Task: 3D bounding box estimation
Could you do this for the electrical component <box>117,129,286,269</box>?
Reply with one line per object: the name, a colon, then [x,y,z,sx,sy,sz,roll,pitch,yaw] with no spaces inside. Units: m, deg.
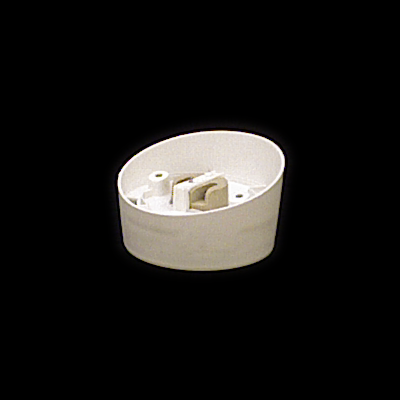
electrical component: [0.000,0.000,0.639,0.099,0.065,0.097,1,20,0]
